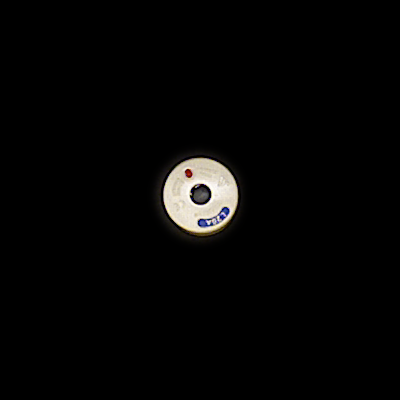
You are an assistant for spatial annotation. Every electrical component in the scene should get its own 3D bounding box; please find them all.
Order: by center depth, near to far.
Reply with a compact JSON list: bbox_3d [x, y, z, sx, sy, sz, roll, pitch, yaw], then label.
[{"bbox_3d":[0.000,0.000,0.618,0.040,0.040,0.078,0,-6,1],"label":"electrical component"}]
